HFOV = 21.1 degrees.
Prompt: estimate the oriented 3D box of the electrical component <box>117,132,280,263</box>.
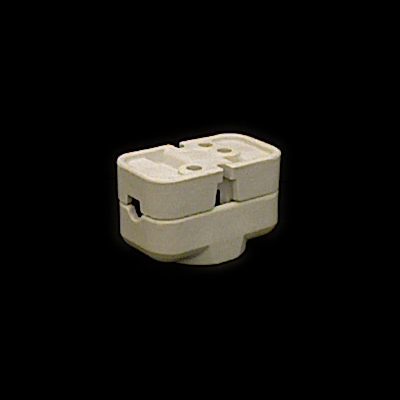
[{"bbox_3d":[0.000,0.000,0.646,0.096,0.060,0.052,-15,27,-34],"label":"electrical component"}]
